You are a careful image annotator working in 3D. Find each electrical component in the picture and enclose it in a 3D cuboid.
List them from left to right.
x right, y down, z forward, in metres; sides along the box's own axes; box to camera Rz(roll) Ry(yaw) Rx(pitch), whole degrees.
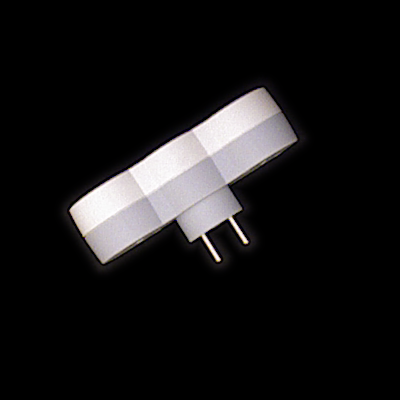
[{"bbox_3d":[0.000,0.000,0.632,0.138,0.074,0.052,-33,-4,-5],"label":"electrical component"}]
